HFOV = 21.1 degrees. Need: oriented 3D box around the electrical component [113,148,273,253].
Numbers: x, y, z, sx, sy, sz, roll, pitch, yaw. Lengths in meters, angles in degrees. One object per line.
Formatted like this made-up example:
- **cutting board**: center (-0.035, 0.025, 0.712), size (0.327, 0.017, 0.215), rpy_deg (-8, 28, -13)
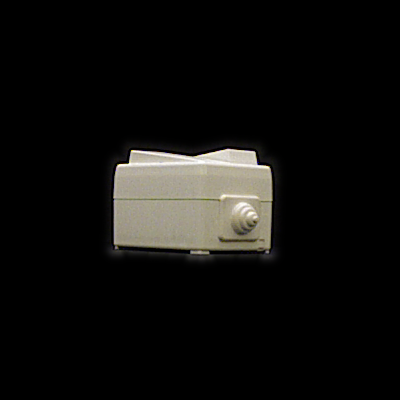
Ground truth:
- **electrical component**: center (0.000, 0.000, 0.648), size (0.062, 0.061, 0.096), rpy_deg (1, 0, -43)
